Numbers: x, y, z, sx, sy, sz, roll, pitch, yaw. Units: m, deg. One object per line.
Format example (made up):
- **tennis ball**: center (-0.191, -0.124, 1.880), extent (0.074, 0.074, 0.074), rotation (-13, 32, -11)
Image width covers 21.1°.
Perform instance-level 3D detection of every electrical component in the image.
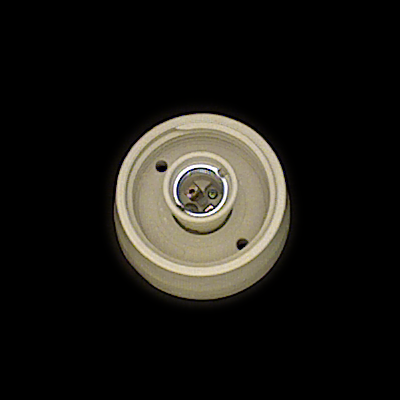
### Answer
- **electrical component**: center (0.000, 0.000, 0.634), extent (0.108, 0.108, 0.060), rotation (0, -16, 0)
